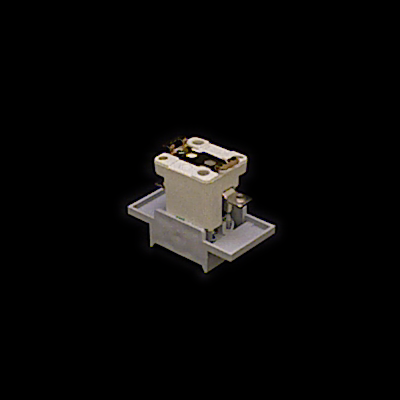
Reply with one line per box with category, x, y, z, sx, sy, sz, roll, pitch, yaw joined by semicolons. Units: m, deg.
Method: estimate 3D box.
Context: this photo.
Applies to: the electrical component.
electrical component;0.000;0.000;0.633;0.080;0.064;0.042;24;39;32
